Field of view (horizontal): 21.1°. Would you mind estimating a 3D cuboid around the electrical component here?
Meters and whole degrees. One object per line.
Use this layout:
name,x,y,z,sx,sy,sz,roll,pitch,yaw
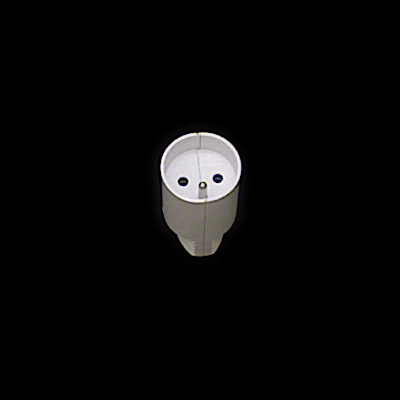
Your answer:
electrical component,0.000,0.000,0.616,0.043,0.043,0.081,0,-27,1
